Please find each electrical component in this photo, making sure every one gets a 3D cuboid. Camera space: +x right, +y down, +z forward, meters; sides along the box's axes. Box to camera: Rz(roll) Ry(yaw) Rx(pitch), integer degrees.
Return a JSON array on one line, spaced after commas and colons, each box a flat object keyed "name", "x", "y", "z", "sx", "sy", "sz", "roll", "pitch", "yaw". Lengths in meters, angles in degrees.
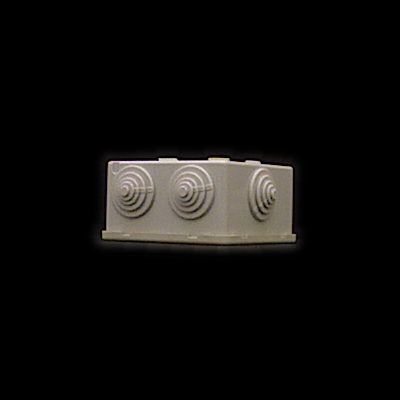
[{"name": "electrical component", "x": 0.000, "y": 0.000, "z": 0.650, "sx": 0.099, "sy": 0.048, "sz": 0.100, "roll": 1, "pitch": 0, "yaw": 33}]
